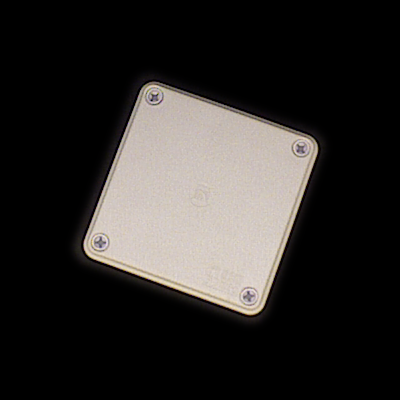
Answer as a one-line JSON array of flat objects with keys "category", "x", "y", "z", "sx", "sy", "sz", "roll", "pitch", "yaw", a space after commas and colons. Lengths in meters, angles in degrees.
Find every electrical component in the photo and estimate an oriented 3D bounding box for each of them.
[{"category": "electrical component", "x": 0.000, "y": 0.000, "z": 0.631, "sx": 0.109, "sy": 0.109, "sz": 0.056, "roll": 20, "pitch": -7, "yaw": 3}]
